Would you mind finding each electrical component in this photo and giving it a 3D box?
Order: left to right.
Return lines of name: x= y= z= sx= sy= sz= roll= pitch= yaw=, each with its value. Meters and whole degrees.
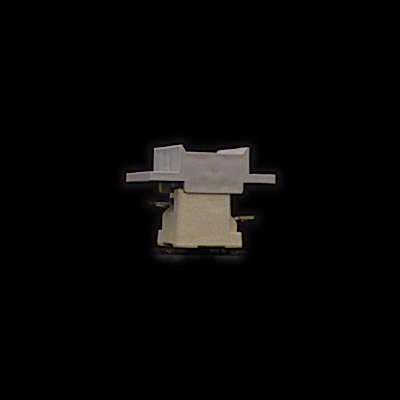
electrical component: x=0.000 y=0.000 z=0.651 sx=0.081 sy=0.064 sz=0.042 roll=1 pitch=0 yaw=-23
